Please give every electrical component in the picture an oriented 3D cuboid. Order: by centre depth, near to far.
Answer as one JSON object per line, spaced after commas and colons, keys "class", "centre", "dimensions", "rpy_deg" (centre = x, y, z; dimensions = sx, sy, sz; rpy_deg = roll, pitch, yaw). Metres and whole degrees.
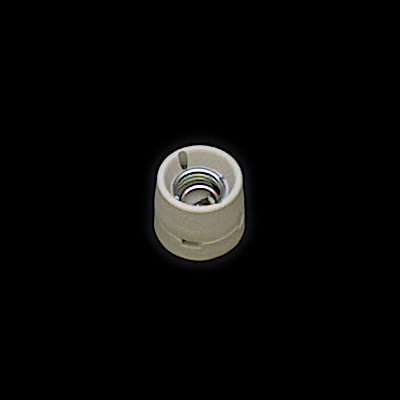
{"class": "electrical component", "centre": [0.000, 0.000, 0.633], "dimensions": [0.055, 0.055, 0.047], "rpy_deg": [0, -36, -1]}
